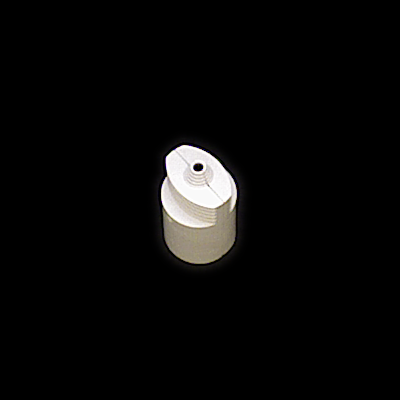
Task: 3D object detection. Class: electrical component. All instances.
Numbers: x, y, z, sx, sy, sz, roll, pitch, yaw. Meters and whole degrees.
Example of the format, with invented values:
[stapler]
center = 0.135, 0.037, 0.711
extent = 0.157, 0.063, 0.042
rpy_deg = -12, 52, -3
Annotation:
[electrical component]
center = 0.000, 0.000, 0.617
extent = 0.043, 0.043, 0.081
rpy_deg = 0, -27, 0
